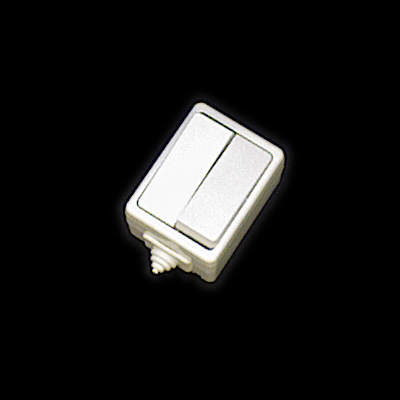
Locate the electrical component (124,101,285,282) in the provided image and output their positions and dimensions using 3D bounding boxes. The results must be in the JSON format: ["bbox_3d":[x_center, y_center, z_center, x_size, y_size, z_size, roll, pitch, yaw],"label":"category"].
[{"bbox_3d":[0.000,0.000,0.625,0.062,0.097,0.060,32,-15,9],"label":"electrical component"}]
